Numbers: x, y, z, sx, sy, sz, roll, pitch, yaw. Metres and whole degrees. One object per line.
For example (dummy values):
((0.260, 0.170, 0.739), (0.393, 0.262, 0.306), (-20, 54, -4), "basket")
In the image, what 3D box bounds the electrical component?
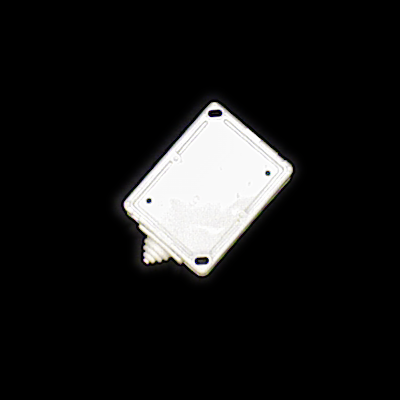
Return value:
((-0.001, 0.000, 0.625), (0.062, 0.096, 0.060), (41, -5, 4), "electrical component")
